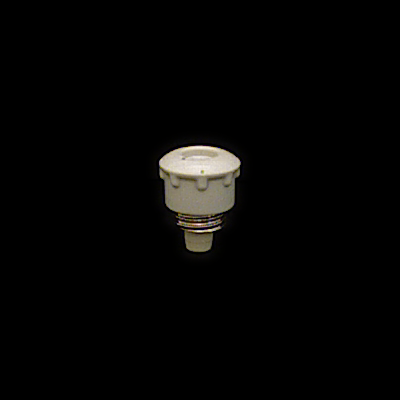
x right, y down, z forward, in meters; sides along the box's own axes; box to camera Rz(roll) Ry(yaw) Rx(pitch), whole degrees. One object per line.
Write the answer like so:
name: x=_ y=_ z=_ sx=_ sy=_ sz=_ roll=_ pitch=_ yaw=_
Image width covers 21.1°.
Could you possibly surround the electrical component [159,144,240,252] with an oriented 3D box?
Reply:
electrical component: x=0.000 y=0.000 z=0.644 sx=0.048 sy=0.062 sz=0.047 roll=1 pitch=22 yaw=0
